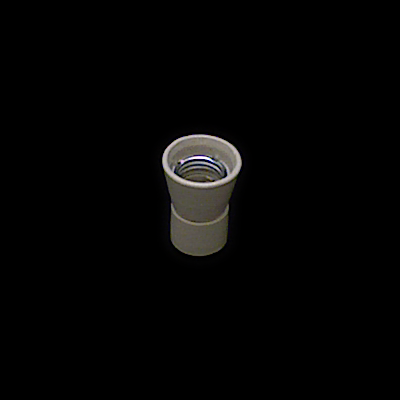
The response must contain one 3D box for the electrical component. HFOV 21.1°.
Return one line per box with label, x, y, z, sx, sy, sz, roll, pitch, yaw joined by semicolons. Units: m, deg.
electrical component;0.000;0.000;0.629;0.044;0.066;0.044;1;42;-1
